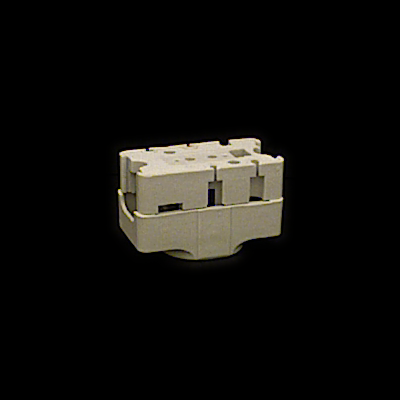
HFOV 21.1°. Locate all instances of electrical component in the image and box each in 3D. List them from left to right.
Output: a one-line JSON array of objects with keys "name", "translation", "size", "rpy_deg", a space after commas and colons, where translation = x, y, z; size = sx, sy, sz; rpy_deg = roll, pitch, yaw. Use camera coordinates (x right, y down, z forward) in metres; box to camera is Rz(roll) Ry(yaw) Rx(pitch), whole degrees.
[{"name": "electrical component", "translation": [0.000, 0.000, 0.647], "size": [0.090, 0.056, 0.049], "rpy_deg": [-6, 23, -19]}]
